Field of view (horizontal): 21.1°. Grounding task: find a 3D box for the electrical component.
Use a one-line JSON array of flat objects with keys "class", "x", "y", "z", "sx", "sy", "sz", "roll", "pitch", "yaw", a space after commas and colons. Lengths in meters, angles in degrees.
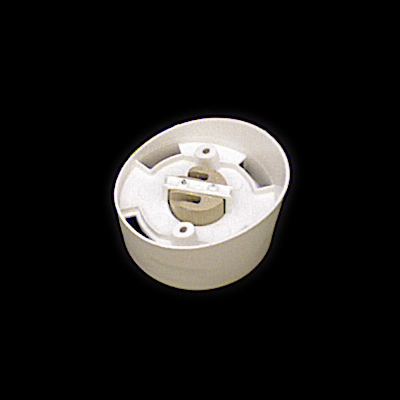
[{"class": "electrical component", "x": 0.000, "y": 0.000, "z": 0.626, "sx": 0.099, "sy": 0.098, "sz": 0.064, "roll": 0, "pitch": -38, "yaw": -2}]
